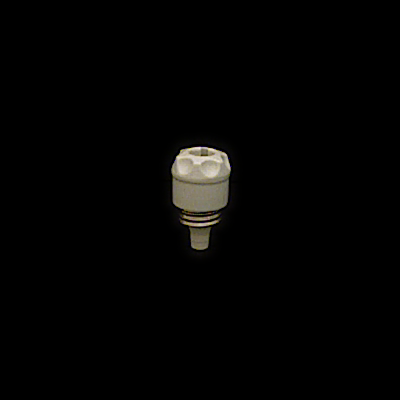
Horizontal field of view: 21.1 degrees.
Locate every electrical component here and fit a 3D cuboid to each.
[{"bbox_3d":[0.000,0.000,0.648,0.035,0.062,0.034,1,22,0],"label":"electrical component"}]
